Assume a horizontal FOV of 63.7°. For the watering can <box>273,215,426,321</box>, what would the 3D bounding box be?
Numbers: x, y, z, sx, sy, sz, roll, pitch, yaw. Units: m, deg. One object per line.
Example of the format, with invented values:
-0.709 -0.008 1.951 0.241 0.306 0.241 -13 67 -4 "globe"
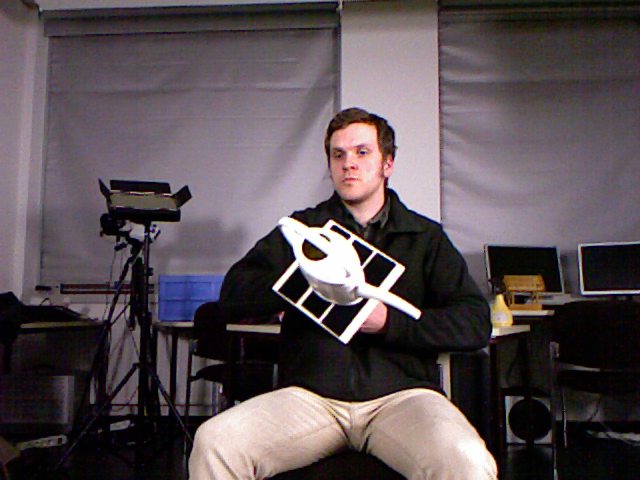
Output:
0.048 0.071 0.988 0.352 0.105 0.221 35 -13 22 "watering can"
